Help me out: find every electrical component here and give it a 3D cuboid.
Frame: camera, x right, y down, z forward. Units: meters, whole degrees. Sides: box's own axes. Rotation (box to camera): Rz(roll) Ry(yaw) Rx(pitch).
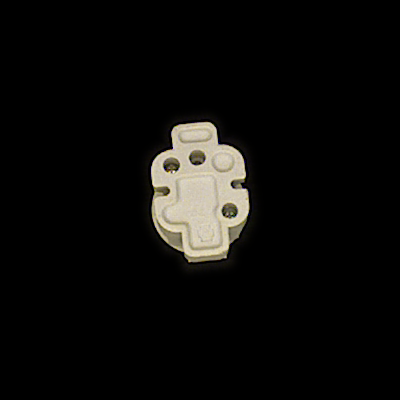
[{"bbox_3d":[0.000,0.000,0.635,0.058,0.079,0.056,-7,-15,-3],"label":"electrical component"}]
